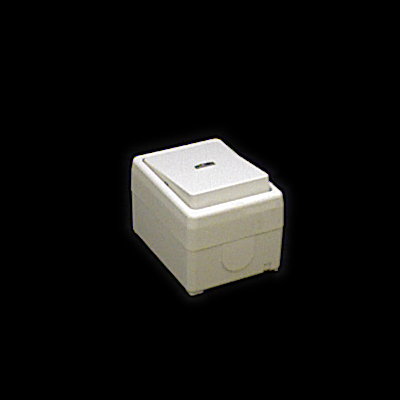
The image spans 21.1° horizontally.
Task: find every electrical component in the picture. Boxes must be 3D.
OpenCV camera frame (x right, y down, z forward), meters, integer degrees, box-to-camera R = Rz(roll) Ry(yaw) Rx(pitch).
[{"bbox_3d":[0.000,0.000,0.636,0.062,0.062,0.095,-15,34,-24],"label":"electrical component"}]
